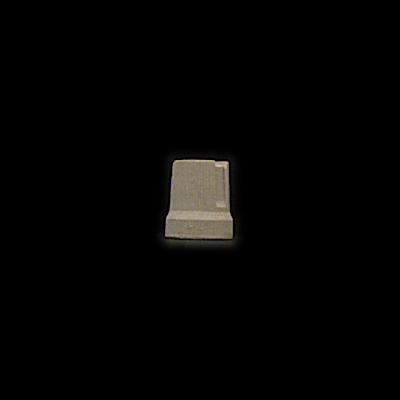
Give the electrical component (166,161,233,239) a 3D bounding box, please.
[{"bbox_3d":[0.000,0.000,0.651,0.040,0.046,0.040,2,1,0],"label":"electrical component"}]
